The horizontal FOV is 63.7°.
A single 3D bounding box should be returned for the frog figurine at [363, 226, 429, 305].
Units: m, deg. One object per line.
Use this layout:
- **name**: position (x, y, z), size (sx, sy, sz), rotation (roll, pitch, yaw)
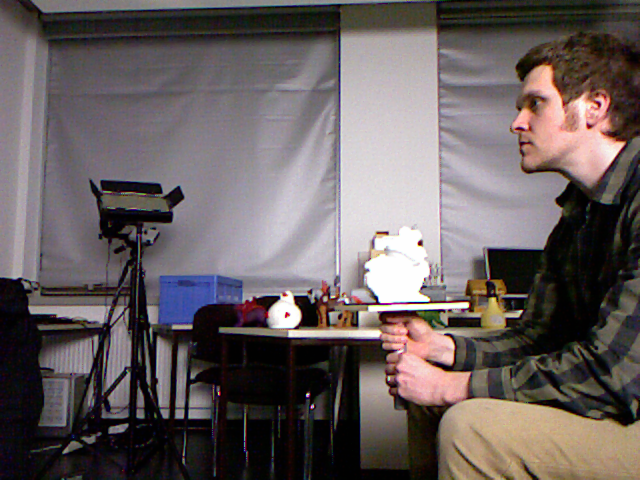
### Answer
- **frog figurine**: position (0.156, 0.052, 1.058), size (0.137, 0.160, 0.122), rotation (-1, -3, 1)
